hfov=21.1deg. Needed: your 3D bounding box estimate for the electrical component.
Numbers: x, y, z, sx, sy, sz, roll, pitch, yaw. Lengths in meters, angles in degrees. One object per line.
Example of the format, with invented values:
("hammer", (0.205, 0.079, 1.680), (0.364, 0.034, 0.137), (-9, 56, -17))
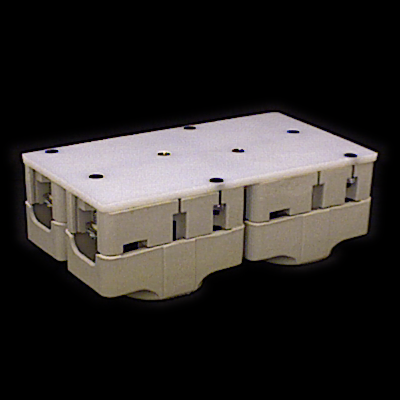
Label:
("electrical component", (0.000, 0.000, 0.638), (0.186, 0.061, 0.104), (-12, 24, -31))
